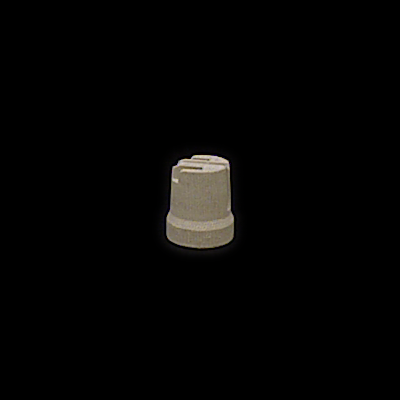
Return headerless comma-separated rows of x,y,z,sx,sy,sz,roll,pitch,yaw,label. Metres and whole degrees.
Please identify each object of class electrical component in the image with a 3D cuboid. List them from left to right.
0.000,0.000,0.643,0.040,0.046,0.040,1,21,0,electrical component
